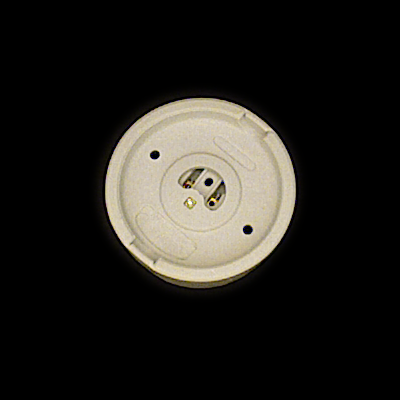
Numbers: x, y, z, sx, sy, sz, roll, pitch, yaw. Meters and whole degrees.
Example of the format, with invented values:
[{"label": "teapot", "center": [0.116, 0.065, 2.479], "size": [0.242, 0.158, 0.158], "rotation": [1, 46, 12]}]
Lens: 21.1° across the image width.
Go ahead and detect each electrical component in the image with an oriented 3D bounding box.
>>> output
[{"label": "electrical component", "center": [0.000, 0.000, 0.633], "size": [0.108, 0.108, 0.060], "rotation": [0, -16, 0]}]
